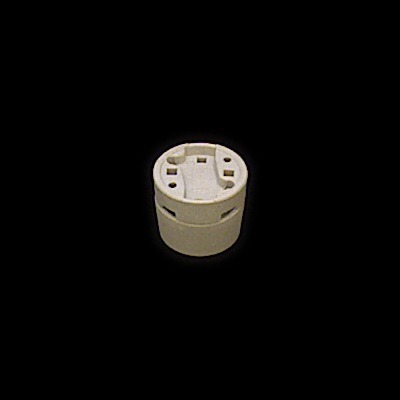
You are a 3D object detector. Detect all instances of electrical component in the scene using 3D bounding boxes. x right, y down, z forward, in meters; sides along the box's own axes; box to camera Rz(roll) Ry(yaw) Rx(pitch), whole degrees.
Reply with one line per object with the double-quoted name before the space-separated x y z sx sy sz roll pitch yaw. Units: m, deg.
"electrical component" 0.000 0.000 0.637 0.055 0.047 0.055 1 42 0
